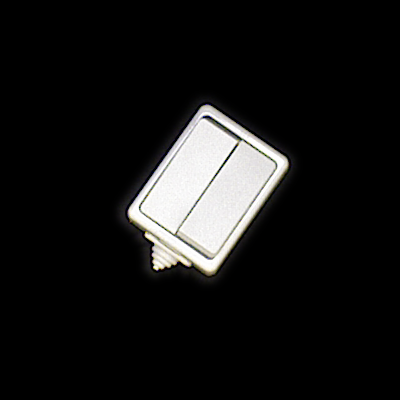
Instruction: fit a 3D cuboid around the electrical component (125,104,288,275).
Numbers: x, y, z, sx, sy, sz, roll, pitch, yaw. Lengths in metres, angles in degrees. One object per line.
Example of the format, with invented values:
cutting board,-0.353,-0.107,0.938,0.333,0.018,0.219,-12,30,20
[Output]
electrical component,0.000,0.000,0.626,0.062,0.096,0.061,35,-6,4
